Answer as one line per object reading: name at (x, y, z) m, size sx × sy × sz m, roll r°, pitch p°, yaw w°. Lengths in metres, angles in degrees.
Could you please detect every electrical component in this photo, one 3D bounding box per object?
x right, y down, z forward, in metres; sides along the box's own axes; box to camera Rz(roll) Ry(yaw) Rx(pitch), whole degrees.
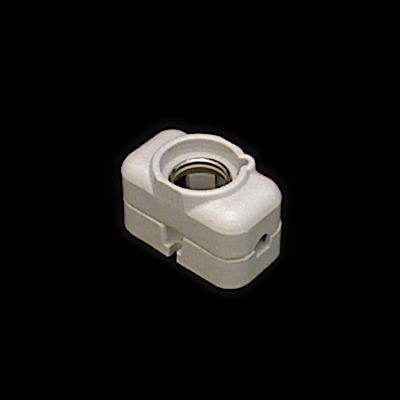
electrical component at (0.000, 0.000, 0.639) m, size 0.094 × 0.060 × 0.054 m, roll 30°, pitch 50°, yaw 27°
